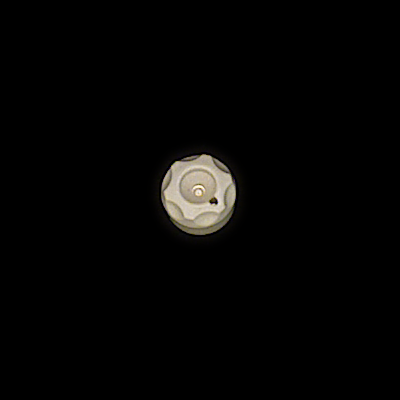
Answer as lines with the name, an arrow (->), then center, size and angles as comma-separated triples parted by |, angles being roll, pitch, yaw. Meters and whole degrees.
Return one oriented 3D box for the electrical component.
electrical component -> 0.000, 0.000, 0.634 | 0.043, 0.043, 0.061 | 0, -16, 1
